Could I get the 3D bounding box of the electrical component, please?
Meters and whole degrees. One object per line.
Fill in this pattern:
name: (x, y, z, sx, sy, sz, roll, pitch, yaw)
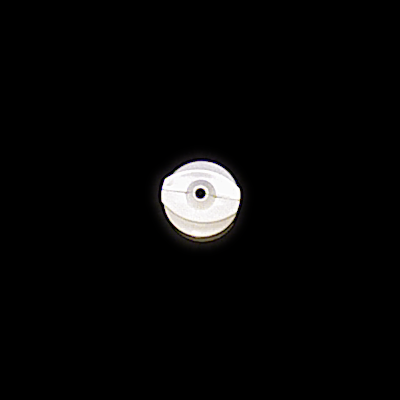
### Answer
electrical component: (0.000, 0.000, 0.616, 0.043, 0.043, 0.080, 0, -6, 1)
